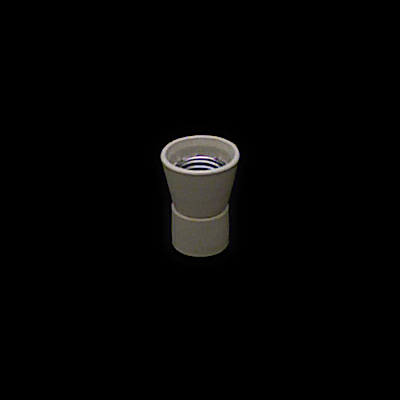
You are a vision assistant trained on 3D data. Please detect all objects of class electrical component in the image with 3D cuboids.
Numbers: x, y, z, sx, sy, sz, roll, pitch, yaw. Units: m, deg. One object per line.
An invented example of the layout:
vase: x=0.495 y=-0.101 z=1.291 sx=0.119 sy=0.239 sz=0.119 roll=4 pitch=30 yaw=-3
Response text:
electrical component: x=0.000 y=0.000 z=0.632 sx=0.044 sy=0.066 sz=0.044 roll=0 pitch=32 yaw=0
